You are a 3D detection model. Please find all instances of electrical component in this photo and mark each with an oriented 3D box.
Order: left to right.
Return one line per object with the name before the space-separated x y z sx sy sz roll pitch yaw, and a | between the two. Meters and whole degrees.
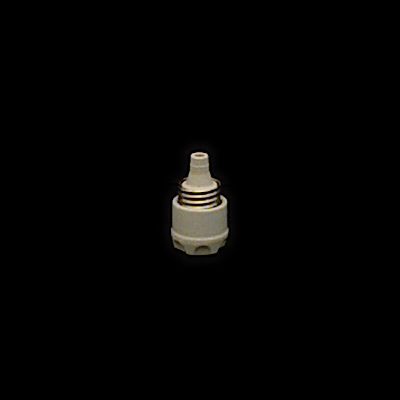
electrical component | 0.000 0.000 0.651 0.035 0.062 0.034 0 23 0
